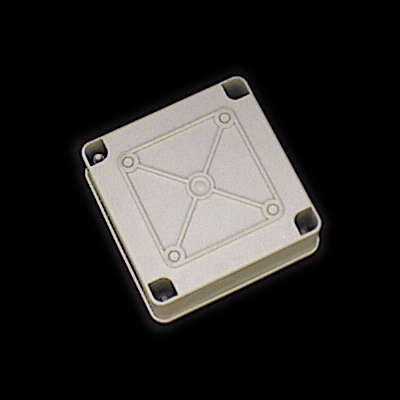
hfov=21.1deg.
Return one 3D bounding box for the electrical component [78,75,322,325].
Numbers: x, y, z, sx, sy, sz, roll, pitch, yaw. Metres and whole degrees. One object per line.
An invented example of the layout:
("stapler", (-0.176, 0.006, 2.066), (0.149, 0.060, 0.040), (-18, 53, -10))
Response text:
("electrical component", (0.000, 0.000, 0.627), (0.109, 0.109, 0.056), (-25, -16, -7))
